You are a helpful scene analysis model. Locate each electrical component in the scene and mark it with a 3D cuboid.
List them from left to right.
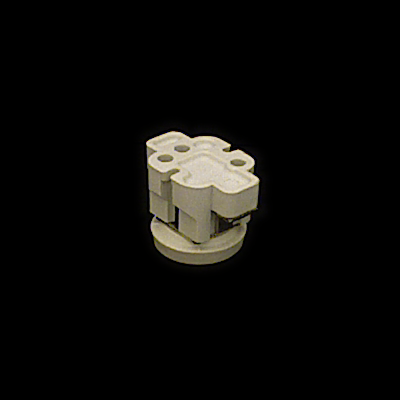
[{"bbox_3d":[0.000,0.000,0.642,0.058,0.057,0.077,-25,42,-36],"label":"electrical component"}]
